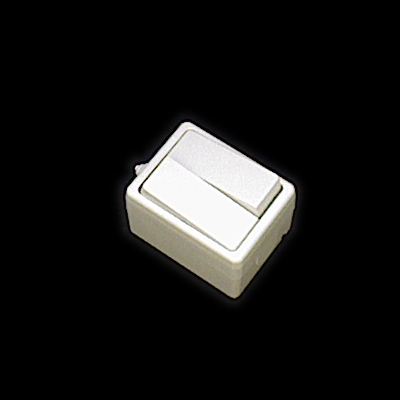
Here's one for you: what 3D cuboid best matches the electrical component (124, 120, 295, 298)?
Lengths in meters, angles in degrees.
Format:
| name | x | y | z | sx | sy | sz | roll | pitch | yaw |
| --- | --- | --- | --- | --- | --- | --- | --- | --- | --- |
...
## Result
| name | x | y | z | sx | sy | sz | roll | pitch | yaw |
| --- | --- | --- | --- | --- | --- | --- | --- | --- | --- |
| electrical component | 0.000 | 0.000 | 0.627 | 0.096 | 0.062 | 0.061 | 33 | -23 | 16 |
